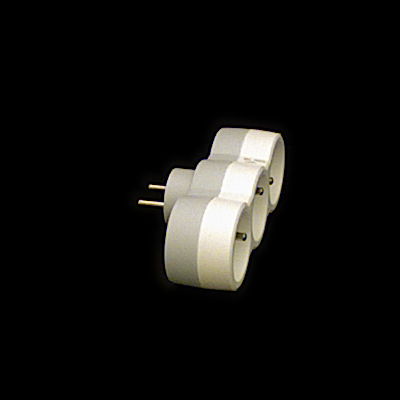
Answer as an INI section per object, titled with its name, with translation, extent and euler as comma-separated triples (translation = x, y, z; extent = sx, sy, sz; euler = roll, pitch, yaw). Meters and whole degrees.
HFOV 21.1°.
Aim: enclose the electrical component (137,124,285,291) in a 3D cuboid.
[electrical component]
translation = 0.000, 0.000, 0.646
extent = 0.073, 0.053, 0.137
euler = 8, 33, 14
